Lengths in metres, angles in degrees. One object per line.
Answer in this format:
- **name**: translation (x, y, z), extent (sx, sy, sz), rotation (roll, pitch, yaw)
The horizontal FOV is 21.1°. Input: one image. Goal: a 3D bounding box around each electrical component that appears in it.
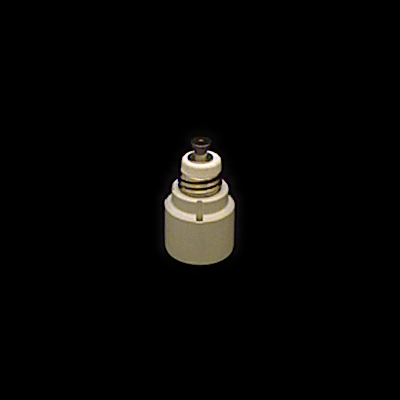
- **electrical component**: translation (0.000, 0.000, 0.631), extent (0.040, 0.079, 0.039), rotation (1, 32, -1)
